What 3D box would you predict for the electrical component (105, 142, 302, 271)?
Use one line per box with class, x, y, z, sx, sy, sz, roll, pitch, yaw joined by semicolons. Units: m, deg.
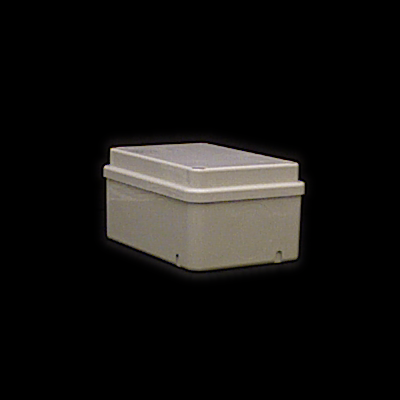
electrical component;0.000;0.000;0.643;0.078;0.057;0.112;-5;12;-32
